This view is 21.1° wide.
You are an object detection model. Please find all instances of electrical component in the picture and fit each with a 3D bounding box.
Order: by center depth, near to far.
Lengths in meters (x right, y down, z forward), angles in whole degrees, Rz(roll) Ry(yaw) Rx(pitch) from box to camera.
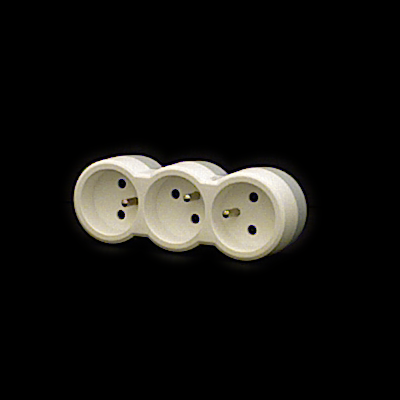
[{"bbox_3d":[0.000,0.000,0.654,0.137,0.052,0.074,6,11,24],"label":"electrical component"}]
